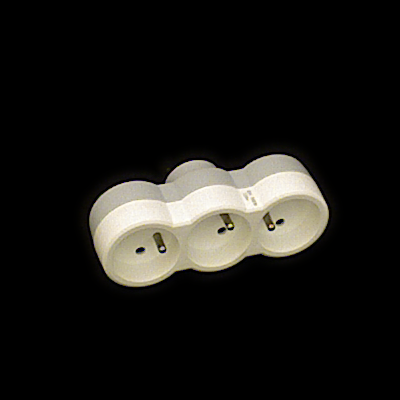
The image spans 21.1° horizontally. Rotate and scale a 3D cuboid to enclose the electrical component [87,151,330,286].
[{"bbox_3d":[0.000,0.000,0.643,0.139,0.053,0.072,-11,42,-13],"label":"electrical component"}]
